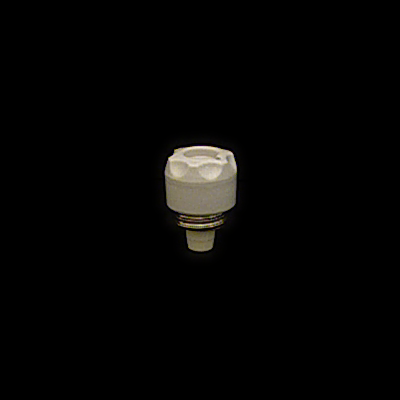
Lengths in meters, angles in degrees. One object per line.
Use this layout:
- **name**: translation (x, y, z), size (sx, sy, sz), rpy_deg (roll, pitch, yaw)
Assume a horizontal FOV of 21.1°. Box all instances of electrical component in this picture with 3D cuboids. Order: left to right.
- **electrical component**: translation (0.000, 0.000, 0.646), size (0.043, 0.063, 0.043), rpy_deg (0, 22, 0)
